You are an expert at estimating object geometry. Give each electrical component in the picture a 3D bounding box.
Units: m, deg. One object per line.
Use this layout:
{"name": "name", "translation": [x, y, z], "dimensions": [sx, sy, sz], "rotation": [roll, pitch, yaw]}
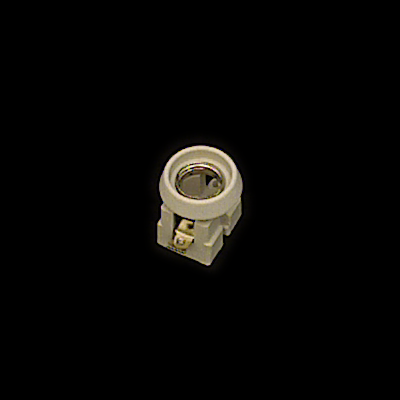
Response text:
{"name": "electrical component", "translation": [0.000, 0.000, 0.637], "dimensions": [0.048, 0.066, 0.055], "rotation": [20, -35, 17]}
